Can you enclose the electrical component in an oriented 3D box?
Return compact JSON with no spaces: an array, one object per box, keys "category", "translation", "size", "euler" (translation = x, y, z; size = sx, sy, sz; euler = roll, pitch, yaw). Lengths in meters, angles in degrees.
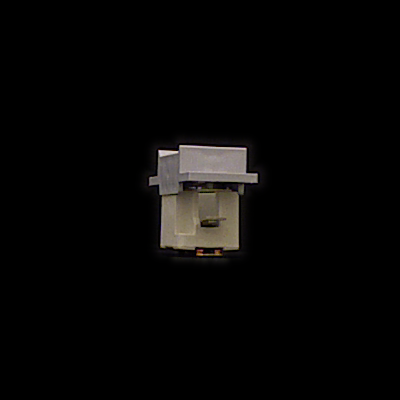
[{"category":"electrical component","translation":[0.000,0.000,0.647],"size":[0.042,0.063,0.081],"euler":[2,-1,-18]}]
